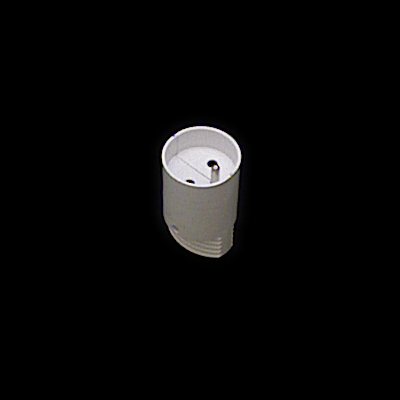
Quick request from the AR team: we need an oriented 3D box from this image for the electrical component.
[{"bbox_3d":[0.000,0.000,0.619,0.043,0.043,0.081,0,-37,-1],"label":"electrical component"}]
